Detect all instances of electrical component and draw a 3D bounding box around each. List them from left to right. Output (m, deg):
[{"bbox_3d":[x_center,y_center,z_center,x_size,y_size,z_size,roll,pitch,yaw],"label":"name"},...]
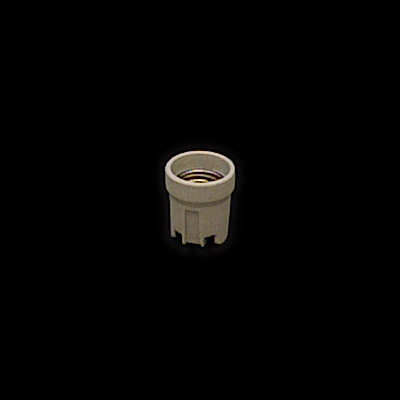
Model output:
[{"bbox_3d":[0.000,0.000,0.634,0.040,0.047,0.039,1,32,0],"label":"electrical component"}]
